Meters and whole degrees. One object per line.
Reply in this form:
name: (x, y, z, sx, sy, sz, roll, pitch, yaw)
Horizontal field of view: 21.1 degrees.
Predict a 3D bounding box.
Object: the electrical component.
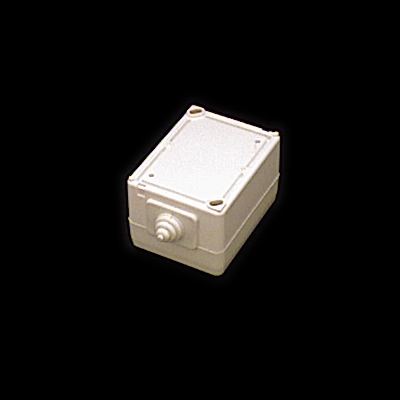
electrical component: (0.000, 0.000, 0.631, 0.061, 0.061, 0.096, 19, 46, 20)
